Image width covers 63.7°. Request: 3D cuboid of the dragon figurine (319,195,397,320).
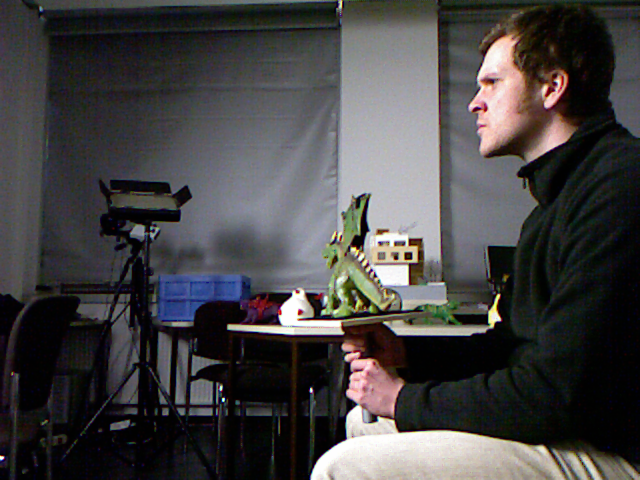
[{"bbox_3d":[0.070,0.029,1.026,0.122,0.244,0.407,-2,-7,-16],"label":"dragon figurine"}]
